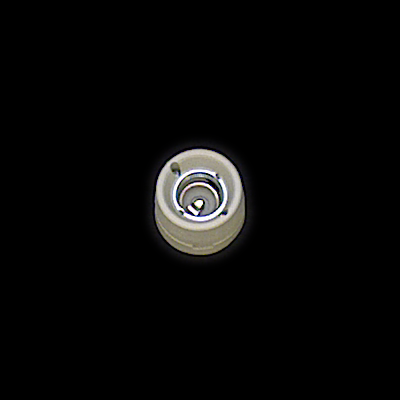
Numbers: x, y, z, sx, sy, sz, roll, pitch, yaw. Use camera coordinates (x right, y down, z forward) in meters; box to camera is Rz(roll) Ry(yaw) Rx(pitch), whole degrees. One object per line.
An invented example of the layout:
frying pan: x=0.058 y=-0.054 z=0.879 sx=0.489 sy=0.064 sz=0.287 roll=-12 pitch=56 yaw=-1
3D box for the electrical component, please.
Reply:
electrical component: x=0.000 y=0.000 z=0.633 sx=0.055 sy=0.056 sz=0.047 roll=0 pitch=-18 yaw=0
